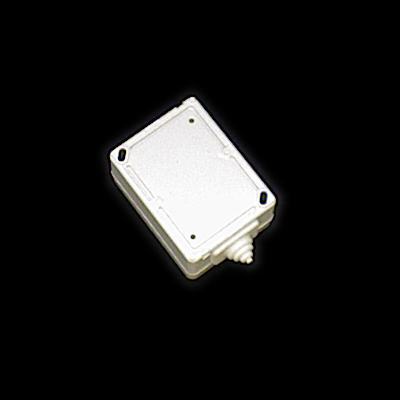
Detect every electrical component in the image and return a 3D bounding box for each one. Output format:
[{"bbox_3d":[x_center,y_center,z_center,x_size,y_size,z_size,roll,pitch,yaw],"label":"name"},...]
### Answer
[{"bbox_3d":[0.000,0.000,0.624,0.062,0.097,0.060,-36,-14,-11],"label":"electrical component"}]
